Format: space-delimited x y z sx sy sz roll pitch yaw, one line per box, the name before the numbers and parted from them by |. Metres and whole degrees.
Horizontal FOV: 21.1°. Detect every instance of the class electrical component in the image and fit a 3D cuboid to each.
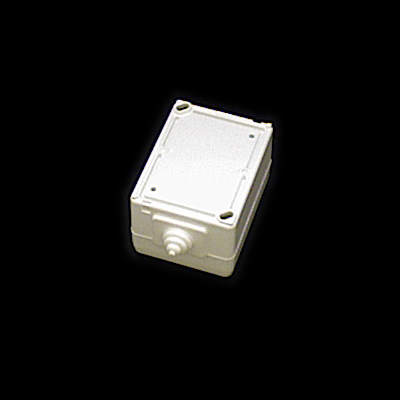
electrical component | -0.001 0.000 0.623 0.062 0.096 0.061 15 -37 10
